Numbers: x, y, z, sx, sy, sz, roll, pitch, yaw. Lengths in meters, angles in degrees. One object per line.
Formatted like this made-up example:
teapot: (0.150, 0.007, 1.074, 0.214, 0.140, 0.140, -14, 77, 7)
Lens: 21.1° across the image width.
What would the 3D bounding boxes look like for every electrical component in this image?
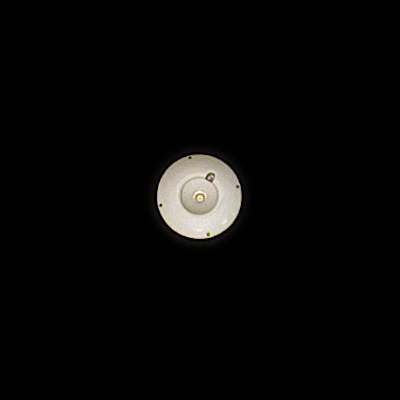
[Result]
electrical component: (0.000, 0.000, 0.634, 0.048, 0.048, 0.062, 0, -6, 1)
